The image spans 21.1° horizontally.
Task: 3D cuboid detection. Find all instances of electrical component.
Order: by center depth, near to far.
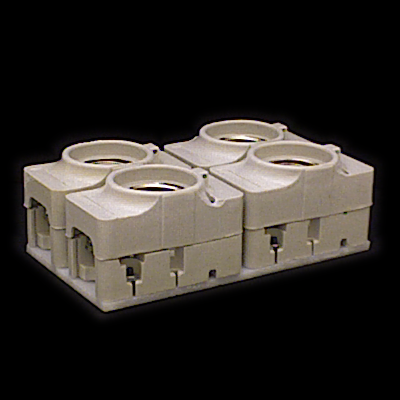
[{"bbox_3d":[0.000,0.000,0.639,0.186,0.061,0.104,-11,24,-30],"label":"electrical component"}]
